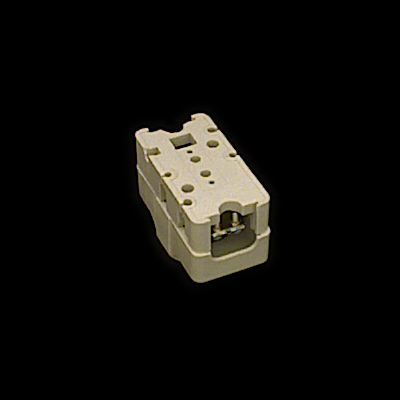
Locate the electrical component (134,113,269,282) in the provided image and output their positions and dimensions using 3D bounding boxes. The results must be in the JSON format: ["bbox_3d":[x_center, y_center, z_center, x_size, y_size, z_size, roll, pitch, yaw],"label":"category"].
[{"bbox_3d":[0.000,0.000,0.639,0.050,0.056,0.088,-18,45,-18],"label":"electrical component"}]
